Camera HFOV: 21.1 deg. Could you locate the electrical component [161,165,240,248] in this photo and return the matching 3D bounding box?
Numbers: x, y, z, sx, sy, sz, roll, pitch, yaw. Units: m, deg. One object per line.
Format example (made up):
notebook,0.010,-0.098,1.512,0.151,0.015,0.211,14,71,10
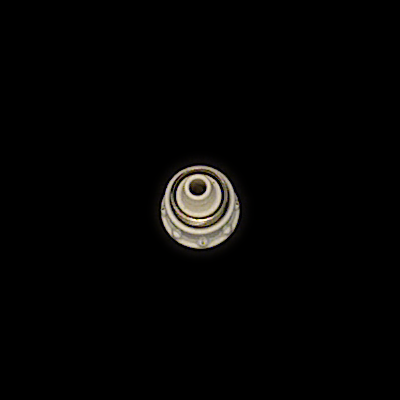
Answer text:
electrical component,0.000,0.000,0.633,0.048,0.048,0.061,0,-15,1
